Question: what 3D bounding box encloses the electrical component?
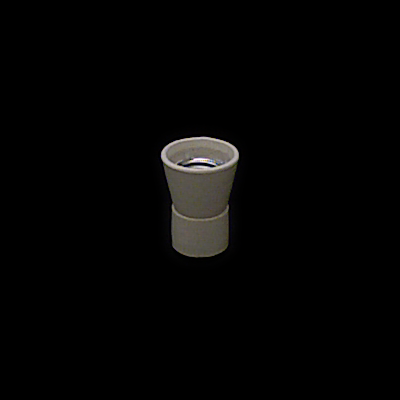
[{"bbox_3d":[0.000,0.000,0.635,0.044,0.066,0.044,0,31,0],"label":"electrical component"}]
